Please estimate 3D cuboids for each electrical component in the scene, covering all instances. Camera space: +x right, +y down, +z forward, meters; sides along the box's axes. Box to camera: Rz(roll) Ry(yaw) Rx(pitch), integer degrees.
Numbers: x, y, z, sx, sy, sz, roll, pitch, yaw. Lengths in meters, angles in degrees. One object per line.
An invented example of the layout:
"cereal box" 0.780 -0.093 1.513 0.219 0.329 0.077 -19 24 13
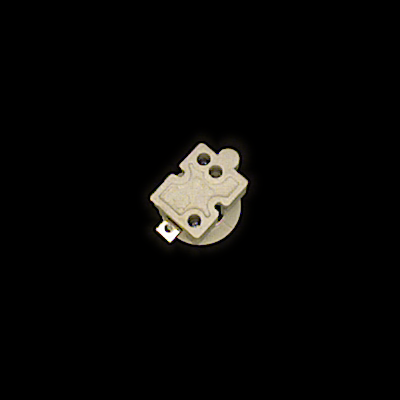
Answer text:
"electrical component" 0.000 0.000 0.638 0.048 0.067 0.055 41 -11 10
